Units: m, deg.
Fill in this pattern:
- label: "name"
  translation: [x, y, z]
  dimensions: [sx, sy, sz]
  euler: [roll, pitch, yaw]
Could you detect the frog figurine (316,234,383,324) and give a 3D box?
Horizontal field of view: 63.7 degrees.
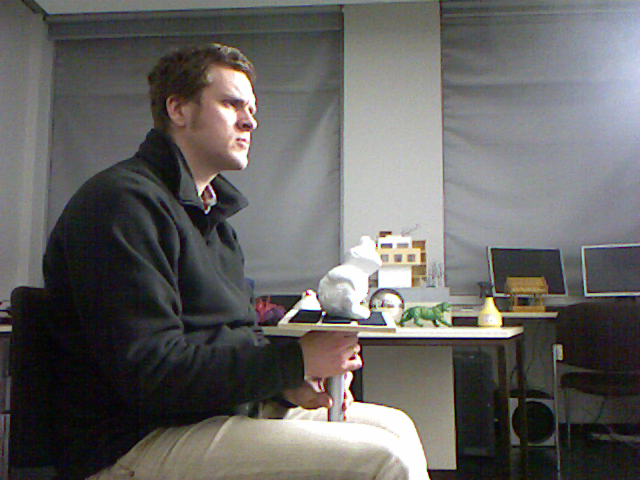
- label: "frog figurine"
  translation: [0.054, 0.068, 0.965]
  dimensions: [0.123, 0.159, 0.137]
  euler: [3, 2, 23]
